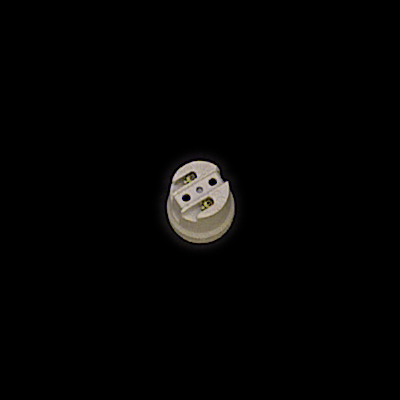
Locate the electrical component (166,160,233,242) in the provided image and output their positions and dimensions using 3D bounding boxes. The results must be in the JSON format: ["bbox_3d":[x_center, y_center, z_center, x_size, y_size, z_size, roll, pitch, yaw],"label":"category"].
[{"bbox_3d":[0.000,0.000,0.633,0.040,0.040,0.046,0,-17,0],"label":"electrical component"}]
